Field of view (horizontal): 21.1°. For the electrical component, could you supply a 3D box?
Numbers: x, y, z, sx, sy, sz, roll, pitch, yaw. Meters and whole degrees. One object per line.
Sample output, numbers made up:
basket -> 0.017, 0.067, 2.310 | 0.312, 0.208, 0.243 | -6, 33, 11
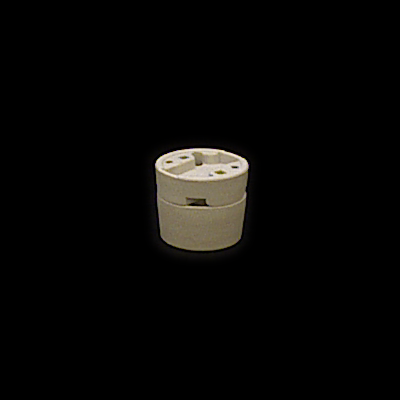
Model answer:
electrical component -> 0.000, 0.000, 0.640 | 0.055, 0.047, 0.055 | 1, 21, 0
